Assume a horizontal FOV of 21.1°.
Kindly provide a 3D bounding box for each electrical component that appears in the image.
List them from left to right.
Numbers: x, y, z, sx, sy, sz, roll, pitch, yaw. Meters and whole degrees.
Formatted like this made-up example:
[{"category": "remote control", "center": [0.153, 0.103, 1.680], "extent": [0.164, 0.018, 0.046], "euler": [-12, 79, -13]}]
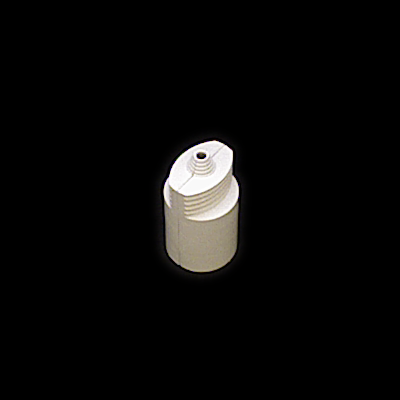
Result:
[{"category": "electrical component", "center": [0.000, 0.000, 0.620], "extent": [0.043, 0.043, 0.081], "euler": [0, -38, 0]}]
